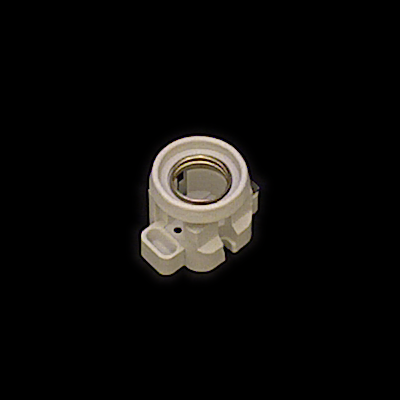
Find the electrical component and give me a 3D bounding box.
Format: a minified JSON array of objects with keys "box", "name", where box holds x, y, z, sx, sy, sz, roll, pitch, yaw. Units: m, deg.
[{"box":[0.000,0.000,0.630,0.078,0.057,0.057,-35,61,-24],"name":"electrical component"}]
